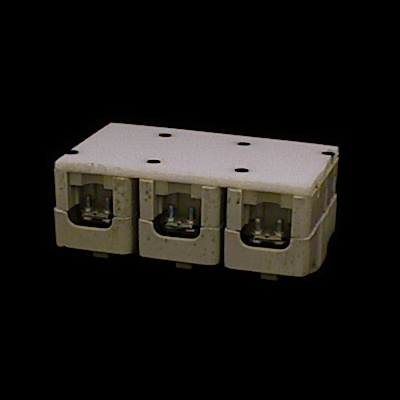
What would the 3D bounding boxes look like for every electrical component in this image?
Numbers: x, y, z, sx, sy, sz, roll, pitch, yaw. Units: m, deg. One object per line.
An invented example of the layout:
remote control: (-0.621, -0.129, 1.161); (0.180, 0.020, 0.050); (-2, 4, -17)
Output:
electrical component: (0.000, 0.000, 0.644); (0.149, 0.063, 0.088); (7, 21, 16)
